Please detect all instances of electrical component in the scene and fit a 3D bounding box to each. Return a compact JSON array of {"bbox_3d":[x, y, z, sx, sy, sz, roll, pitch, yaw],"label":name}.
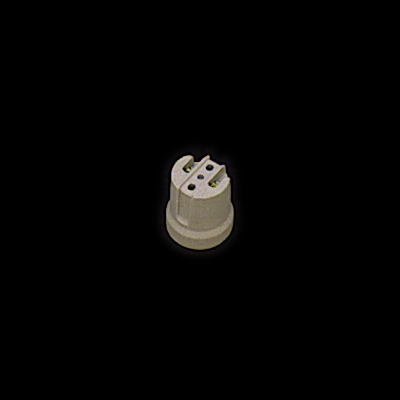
[{"bbox_3d":[0.000,0.000,0.634,0.040,0.040,0.046,0,-37,-1],"label":"electrical component"}]
